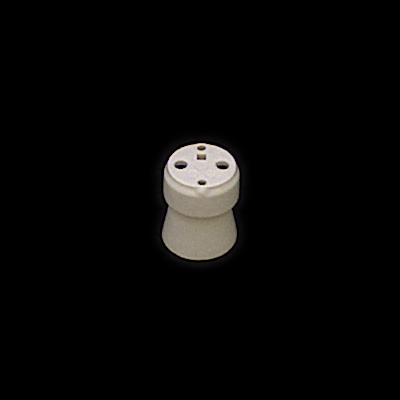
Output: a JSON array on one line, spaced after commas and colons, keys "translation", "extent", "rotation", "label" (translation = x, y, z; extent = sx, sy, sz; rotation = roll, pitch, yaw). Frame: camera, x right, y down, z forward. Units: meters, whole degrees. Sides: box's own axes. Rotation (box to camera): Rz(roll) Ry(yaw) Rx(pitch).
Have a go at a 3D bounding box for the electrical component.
[{"translation": [0.000, 0.000, 0.633], "extent": [0.045, 0.055, 0.044], "rotation": [1, 43, -1], "label": "electrical component"}]
